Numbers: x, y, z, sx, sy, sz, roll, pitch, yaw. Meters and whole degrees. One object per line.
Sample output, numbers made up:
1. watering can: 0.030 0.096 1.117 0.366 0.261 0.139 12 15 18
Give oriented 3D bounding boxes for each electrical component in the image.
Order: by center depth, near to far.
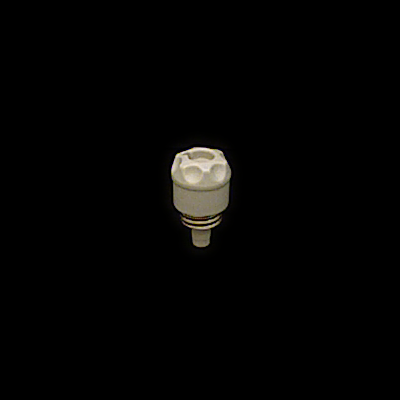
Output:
1. electrical component: 0.000 0.000 0.643 0.035 0.062 0.034 1 32 0
